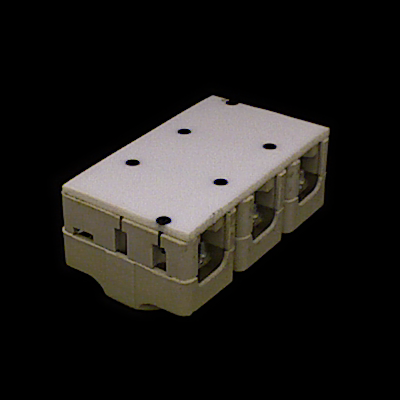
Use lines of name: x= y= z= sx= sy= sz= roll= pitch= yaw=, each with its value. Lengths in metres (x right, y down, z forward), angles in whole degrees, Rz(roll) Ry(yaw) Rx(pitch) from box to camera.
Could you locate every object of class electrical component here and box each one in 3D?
electrical component: x=0.000 y=0.000 z=0.637 sx=0.089 sy=0.063 sz=0.148 roll=20 pitch=36 yaw=30
